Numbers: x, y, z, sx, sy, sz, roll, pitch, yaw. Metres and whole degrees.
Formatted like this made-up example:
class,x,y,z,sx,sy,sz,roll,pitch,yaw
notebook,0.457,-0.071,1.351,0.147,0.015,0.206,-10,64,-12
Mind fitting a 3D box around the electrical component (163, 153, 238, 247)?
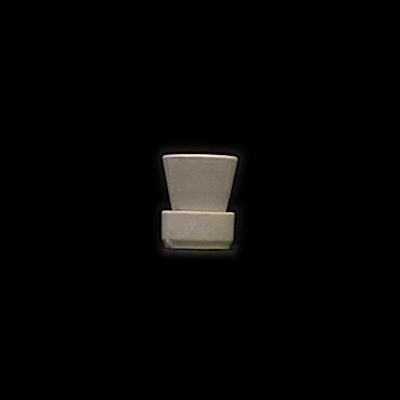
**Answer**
class,x,y,z,sx,sy,sz,roll,pitch,yaw
electrical component,0.000,0.000,0.650,0.045,0.055,0.044,1,2,0
